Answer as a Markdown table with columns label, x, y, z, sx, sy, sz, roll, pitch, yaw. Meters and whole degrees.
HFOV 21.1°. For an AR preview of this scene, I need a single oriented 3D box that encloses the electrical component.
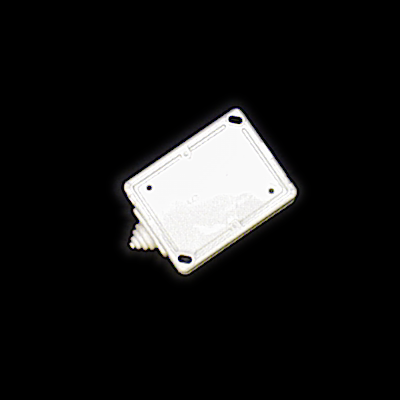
| label | x | y | z | sx | sy | sz | roll | pitch | yaw |
| --- | --- | --- | --- | --- | --- | --- | --- | --- | --- |
| electrical component | -0.001 | 0.000 | 0.626 | 0.096 | 0.062 | 0.061 | -34 | -5 | -4 |
